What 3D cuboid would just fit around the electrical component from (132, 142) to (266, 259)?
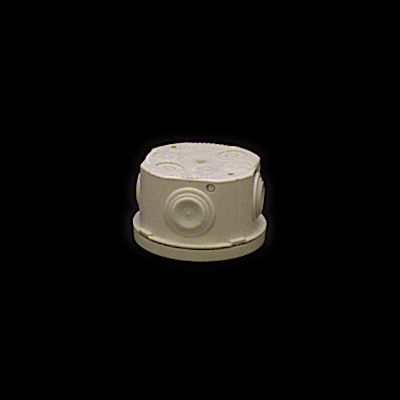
[{"bbox_3d":[0.000,0.000,0.640,0.080,0.051,0.079,1,21,0],"label":"electrical component"}]
